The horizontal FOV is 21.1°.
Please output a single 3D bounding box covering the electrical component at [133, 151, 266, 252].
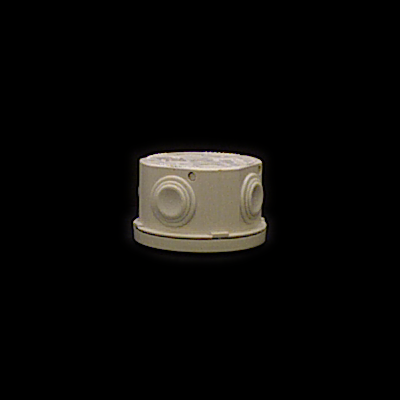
[{"bbox_3d":[0.000,0.000,0.645,0.080,0.051,0.079,1,11,0],"label":"electrical component"}]
